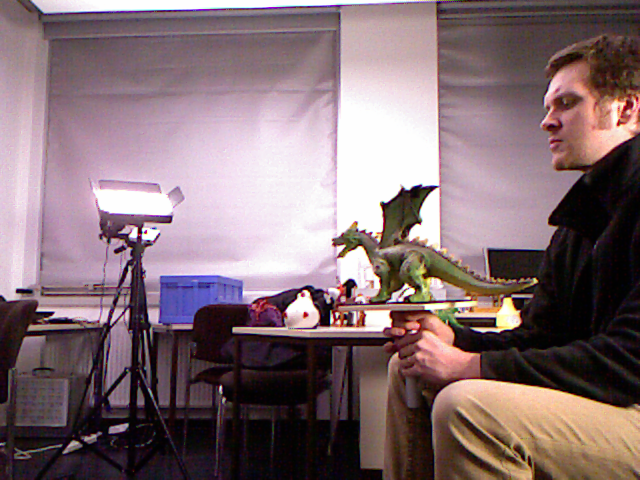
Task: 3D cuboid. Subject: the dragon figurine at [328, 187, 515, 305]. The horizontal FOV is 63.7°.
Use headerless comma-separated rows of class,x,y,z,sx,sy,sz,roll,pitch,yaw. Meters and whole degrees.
dragon figurine,0.188,0.008,1.066,0.408,0.244,0.122,-9,-7,38
